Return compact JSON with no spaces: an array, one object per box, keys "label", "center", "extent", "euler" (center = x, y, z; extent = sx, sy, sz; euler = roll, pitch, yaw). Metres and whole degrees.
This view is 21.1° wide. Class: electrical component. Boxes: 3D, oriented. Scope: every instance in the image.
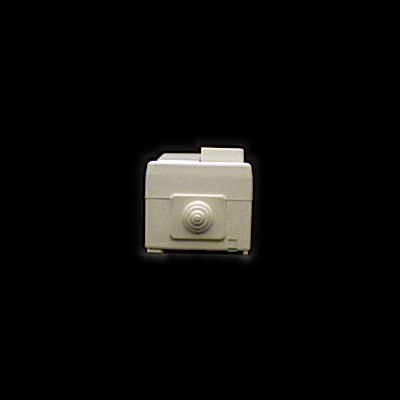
[{"label":"electrical component","center":[0.000,0.000,0.647],"extent":[0.062,0.061,0.096],"euler":[1,0,2]}]
